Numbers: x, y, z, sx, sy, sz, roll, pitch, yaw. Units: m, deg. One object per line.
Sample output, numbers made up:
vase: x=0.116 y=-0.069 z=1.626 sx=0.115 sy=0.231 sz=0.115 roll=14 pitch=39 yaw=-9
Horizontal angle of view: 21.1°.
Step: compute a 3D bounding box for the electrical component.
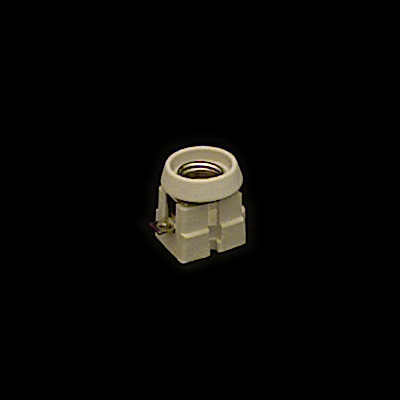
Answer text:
electrical component: x=0.000 y=0.000 z=0.642 sx=0.067 sy=0.056 sz=0.047 roll=-18 pitch=35 yaw=-27
